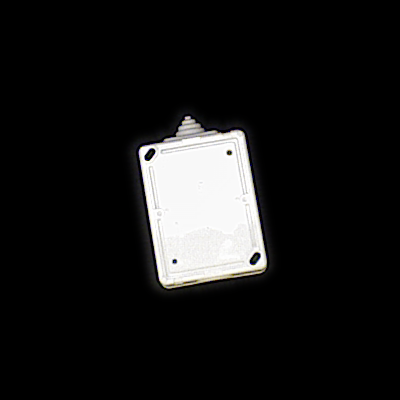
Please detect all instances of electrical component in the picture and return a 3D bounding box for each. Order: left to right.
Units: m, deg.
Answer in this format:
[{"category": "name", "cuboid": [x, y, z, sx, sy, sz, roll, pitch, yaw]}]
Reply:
[{"category": "electrical component", "cuboid": [0.000, 0.000, 0.627, 0.062, 0.096, 0.061, -10, -7, 0]}]
